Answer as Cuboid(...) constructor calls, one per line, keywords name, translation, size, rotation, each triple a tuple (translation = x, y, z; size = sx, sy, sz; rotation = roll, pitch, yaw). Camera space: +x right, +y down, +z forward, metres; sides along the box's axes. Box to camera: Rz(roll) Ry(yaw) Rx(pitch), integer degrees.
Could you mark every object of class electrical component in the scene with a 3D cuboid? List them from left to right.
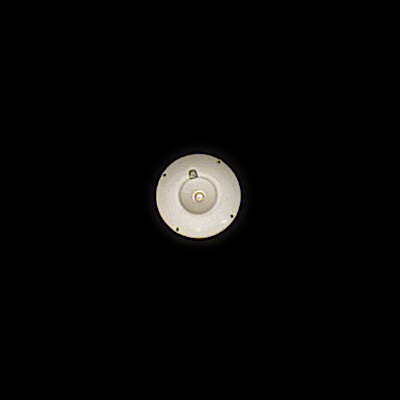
Cuboid(name="electrical component", translation=(0.000, 0.000, 0.634), size=(0.048, 0.048, 0.061), rotation=(0, -6, 0))
